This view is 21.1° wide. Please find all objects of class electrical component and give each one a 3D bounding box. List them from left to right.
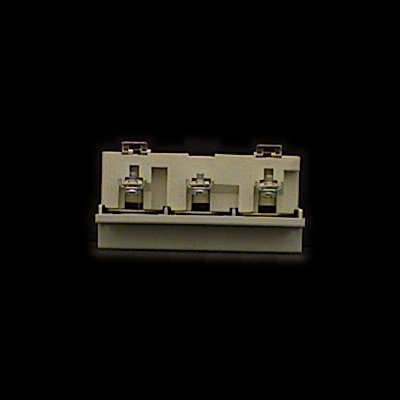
[{"bbox_3d":[0.000,0.000,0.660,0.121,0.063,0.078,2,0,-1],"label":"electrical component"}]
